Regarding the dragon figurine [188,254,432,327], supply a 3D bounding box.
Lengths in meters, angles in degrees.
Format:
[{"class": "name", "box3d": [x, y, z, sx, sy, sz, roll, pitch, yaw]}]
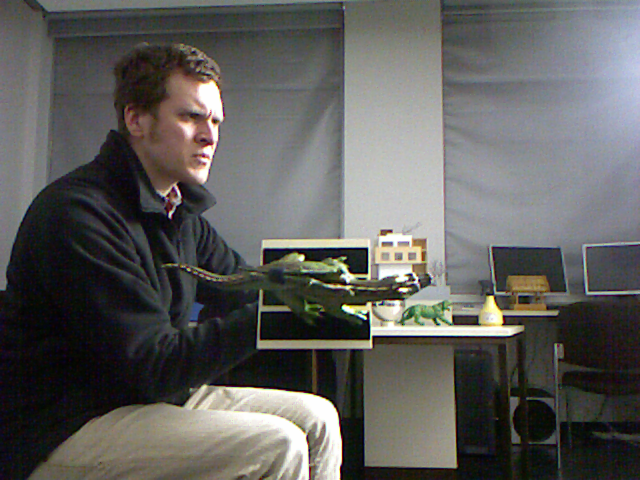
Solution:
[{"class": "dragon figurine", "box3d": [-0.035, 0.062, 0.812, 0.412, 0.124, 0.241, 3, -14, 2]}]
